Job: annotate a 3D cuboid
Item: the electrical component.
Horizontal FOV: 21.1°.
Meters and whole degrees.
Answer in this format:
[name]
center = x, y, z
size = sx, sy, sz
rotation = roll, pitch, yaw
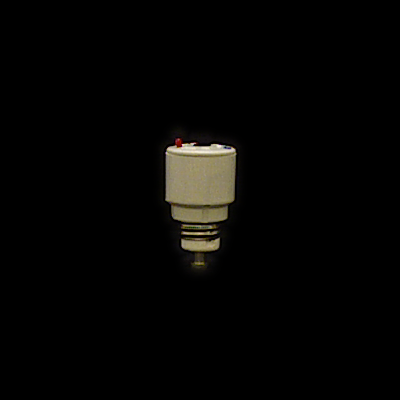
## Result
[electrical component]
center = 0.000, 0.000, 0.642
size = 0.040, 0.079, 0.040
rotation = 1, 12, 0
